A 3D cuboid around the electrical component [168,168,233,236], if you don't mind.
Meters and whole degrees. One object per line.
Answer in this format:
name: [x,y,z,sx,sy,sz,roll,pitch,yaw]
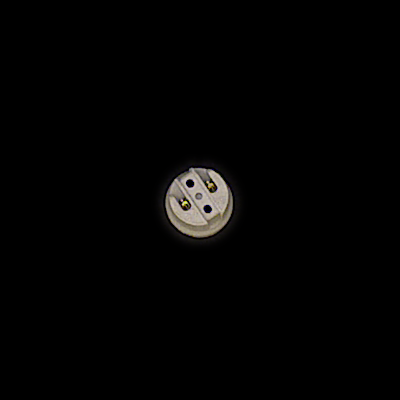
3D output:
electrical component: [0.000,0.000,0.634,0.040,0.040,0.046,0,-6,0]
